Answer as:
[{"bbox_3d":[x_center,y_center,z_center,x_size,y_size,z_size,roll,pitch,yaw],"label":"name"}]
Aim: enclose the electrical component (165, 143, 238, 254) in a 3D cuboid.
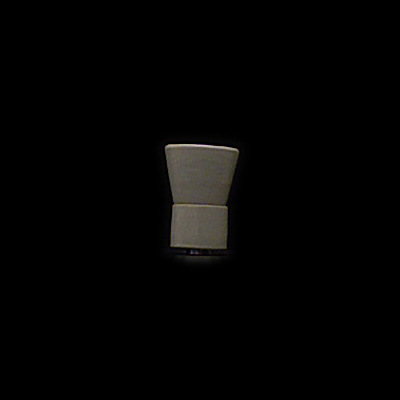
[{"bbox_3d":[0.000,0.000,0.652,0.044,0.065,0.044,2,0,0],"label":"electrical component"}]
